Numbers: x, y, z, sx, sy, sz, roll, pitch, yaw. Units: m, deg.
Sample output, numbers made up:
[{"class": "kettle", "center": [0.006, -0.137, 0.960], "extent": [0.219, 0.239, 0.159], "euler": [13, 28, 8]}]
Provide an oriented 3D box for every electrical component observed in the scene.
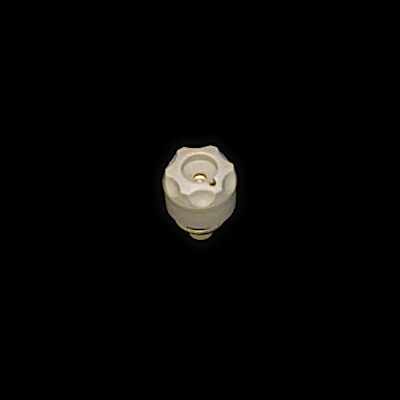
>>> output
[{"class": "electrical component", "center": [0.000, 0.000, 0.636], "extent": [0.043, 0.043, 0.062], "euler": [0, -38, 1]}]
